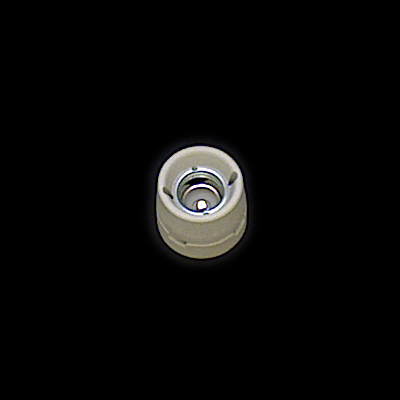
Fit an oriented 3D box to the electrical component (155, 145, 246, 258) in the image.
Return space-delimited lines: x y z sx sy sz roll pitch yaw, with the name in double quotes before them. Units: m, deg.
"electrical component" 0.000 0.000 0.633 0.055 0.056 0.047 0 -27 1
